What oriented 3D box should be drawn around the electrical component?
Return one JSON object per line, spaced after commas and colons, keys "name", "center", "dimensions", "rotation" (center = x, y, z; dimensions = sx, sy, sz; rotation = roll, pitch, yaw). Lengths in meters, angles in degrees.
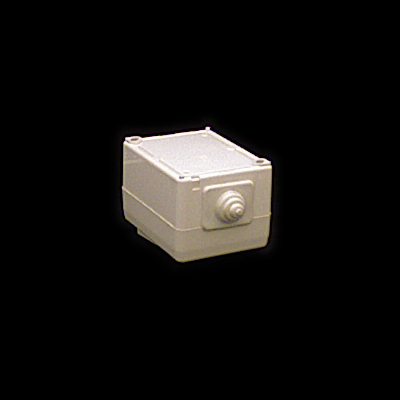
{"name": "electrical component", "center": [0.000, 0.000, 0.637], "dimensions": [0.062, 0.061, 0.095], "rotation": [-10, 24, -26]}
